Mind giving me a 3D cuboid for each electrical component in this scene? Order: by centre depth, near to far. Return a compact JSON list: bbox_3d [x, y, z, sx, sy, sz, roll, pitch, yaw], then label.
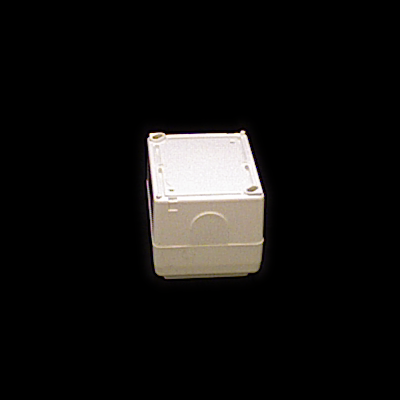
[{"bbox_3d":[0.000,0.000,0.636,0.062,0.061,0.095,-2,31,-5],"label":"electrical component"}]
